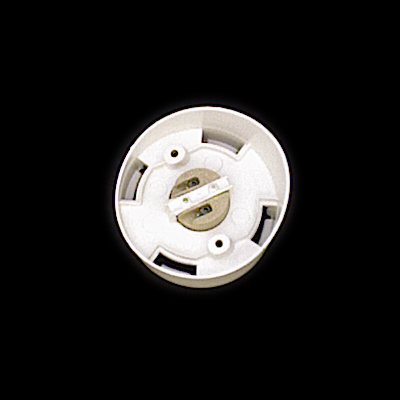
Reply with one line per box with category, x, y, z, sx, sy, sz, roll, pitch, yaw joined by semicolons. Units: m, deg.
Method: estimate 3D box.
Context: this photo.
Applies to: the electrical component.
electrical component;0.000;0.000;0.624;0.099;0.099;0.064;0;-18;0
